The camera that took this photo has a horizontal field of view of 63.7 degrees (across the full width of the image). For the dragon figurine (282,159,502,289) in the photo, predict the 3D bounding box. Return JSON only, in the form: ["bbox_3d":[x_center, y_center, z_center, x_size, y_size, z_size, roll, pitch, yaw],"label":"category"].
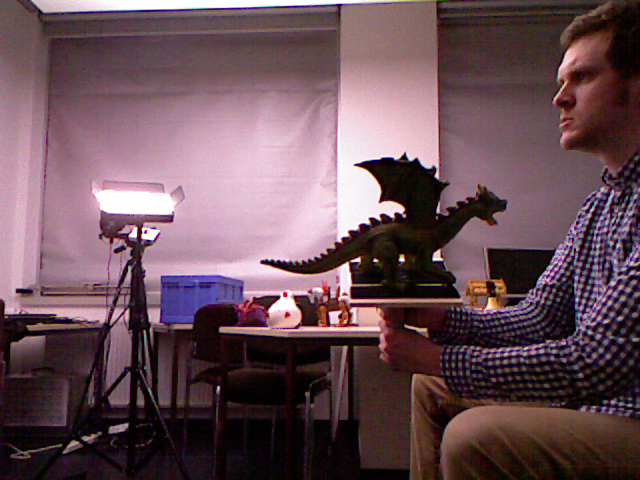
[{"bbox_3d":[0.134,-0.035,0.957,0.411,0.239,0.124,0,21,-2],"label":"dragon figurine"}]
